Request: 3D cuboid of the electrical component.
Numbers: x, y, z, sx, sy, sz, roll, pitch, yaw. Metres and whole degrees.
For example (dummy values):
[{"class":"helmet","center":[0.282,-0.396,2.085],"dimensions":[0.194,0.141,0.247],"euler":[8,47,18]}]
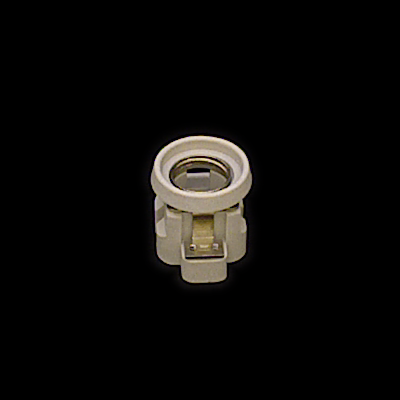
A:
[{"class":"electrical component","center":[0.000,0.000,0.630],"dimensions":[0.058,0.057,0.078],"euler":[-3,42,-4]}]
